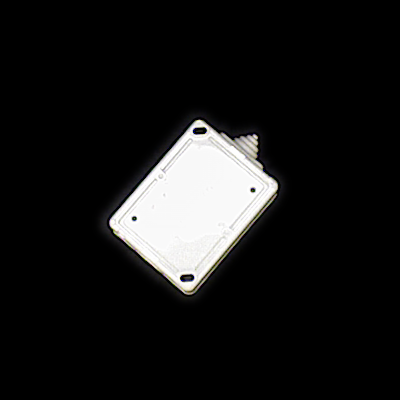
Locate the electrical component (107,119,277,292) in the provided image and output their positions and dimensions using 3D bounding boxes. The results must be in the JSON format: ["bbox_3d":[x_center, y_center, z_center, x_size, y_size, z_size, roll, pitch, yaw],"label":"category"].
[{"bbox_3d":[0.000,0.000,0.627,0.062,0.096,0.061,40,-5,5],"label":"electrical component"}]
